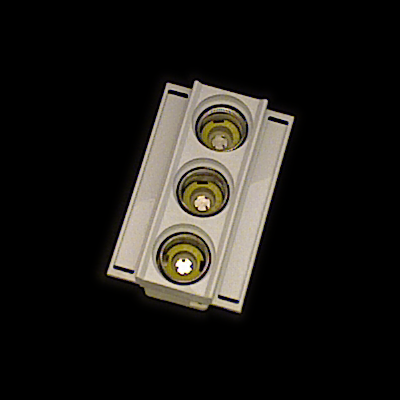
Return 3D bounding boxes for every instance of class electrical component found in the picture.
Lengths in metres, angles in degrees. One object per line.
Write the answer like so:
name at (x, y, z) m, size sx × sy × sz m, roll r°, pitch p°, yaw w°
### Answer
electrical component at (0.000, 0.000, 0.637) m, size 0.079 × 0.121 × 0.063 m, roll 16°, pitch -16°, yaw 4°
